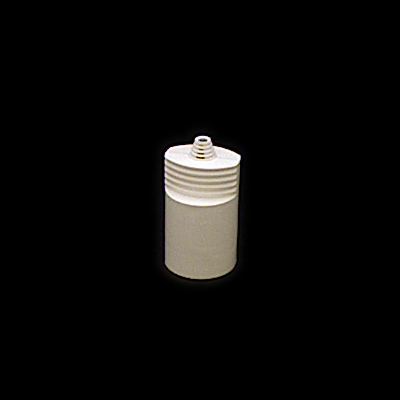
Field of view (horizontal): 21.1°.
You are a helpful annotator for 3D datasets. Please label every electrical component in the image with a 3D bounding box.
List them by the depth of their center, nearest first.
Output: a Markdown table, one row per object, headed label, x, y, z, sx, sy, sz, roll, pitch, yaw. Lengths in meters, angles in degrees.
| label | x | y | z | sx | sy | sz | roll | pitch | yaw |
| --- | --- | --- | --- | --- | --- | --- | --- | --- | --- |
| electrical component | 0.000 | 0.000 | 0.628 | 0.043 | 0.082 | 0.042 | 1 | 31 | 0 |
